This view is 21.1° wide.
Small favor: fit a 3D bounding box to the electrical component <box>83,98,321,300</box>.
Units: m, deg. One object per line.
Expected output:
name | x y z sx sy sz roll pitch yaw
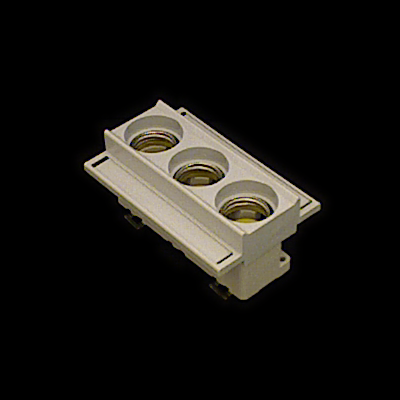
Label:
electrical component | 0.000 0.000 0.641 0.078 0.063 0.120 -32 52 -28
